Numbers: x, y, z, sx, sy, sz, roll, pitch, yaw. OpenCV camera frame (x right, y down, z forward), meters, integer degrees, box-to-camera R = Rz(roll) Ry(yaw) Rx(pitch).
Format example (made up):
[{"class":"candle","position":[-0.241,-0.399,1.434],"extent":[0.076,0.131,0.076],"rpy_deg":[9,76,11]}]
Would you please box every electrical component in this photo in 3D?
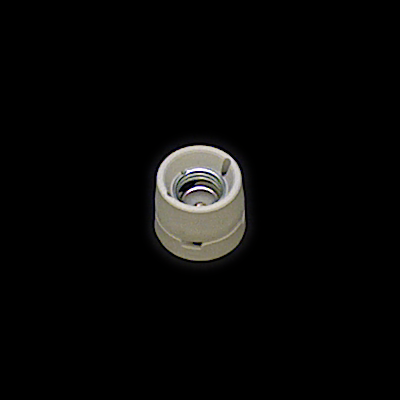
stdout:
[{"class":"electrical component","position":[0.000,0.000,0.633],"extent":[0.055,0.055,0.047],"rpy_deg":[0,-37,1]}]
